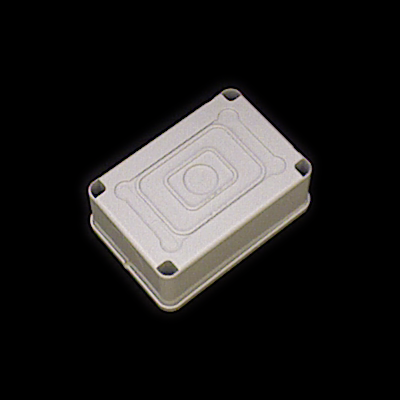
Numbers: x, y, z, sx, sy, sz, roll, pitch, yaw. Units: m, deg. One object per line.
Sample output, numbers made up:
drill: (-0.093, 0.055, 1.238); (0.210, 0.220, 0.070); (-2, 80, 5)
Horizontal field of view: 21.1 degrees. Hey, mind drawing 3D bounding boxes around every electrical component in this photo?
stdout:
electrical component: (0.000, 0.000, 0.628); (0.113, 0.078, 0.057); (-36, -21, -16)
